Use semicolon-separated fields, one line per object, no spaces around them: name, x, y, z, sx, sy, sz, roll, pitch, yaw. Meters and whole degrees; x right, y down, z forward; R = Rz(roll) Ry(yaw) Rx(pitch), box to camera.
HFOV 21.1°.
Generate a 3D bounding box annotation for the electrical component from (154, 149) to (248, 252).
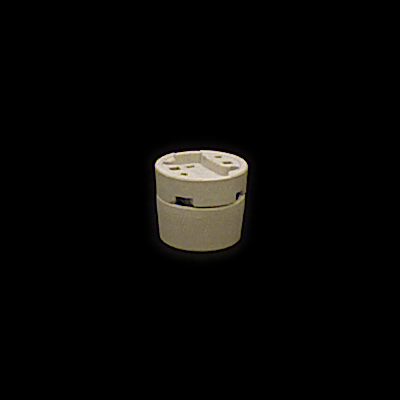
electrical component;0.000;0.000;0.642;0.055;0.047;0.055;1;21;0
